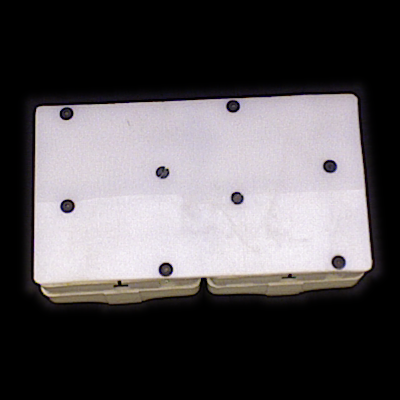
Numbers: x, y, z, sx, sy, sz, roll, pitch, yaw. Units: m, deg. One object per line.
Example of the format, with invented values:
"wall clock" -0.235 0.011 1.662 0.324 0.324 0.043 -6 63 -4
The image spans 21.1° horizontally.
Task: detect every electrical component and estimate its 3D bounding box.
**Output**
"electrical component" 0.000 0.000 0.625 0.186 0.106 0.060 -2 -17 -1
